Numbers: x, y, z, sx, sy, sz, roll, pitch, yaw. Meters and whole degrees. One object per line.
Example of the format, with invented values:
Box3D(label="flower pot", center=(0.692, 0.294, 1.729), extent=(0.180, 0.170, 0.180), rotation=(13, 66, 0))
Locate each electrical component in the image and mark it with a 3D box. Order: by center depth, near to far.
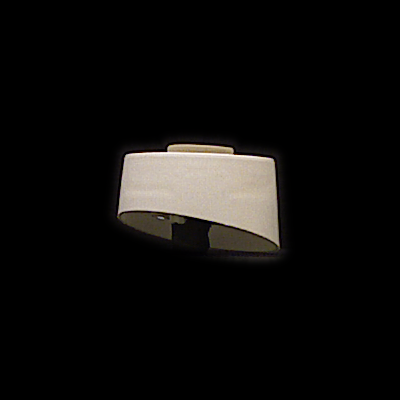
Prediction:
Box3D(label="electrical component", center=(0.000, 0.000, 0.648), extent=(0.099, 0.064, 0.099), rotation=(2, 0, 0))
